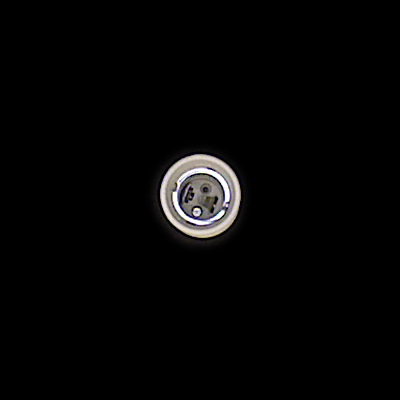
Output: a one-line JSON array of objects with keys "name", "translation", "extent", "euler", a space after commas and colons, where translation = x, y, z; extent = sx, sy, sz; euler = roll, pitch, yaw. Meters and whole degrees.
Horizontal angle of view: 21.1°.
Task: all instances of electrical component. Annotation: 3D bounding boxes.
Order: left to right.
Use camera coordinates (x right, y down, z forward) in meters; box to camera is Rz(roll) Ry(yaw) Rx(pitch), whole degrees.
[{"name": "electrical component", "translation": [0.000, 0.000, 0.629], "extent": [0.045, 0.045, 0.055], "euler": [0, -7, 1]}]
